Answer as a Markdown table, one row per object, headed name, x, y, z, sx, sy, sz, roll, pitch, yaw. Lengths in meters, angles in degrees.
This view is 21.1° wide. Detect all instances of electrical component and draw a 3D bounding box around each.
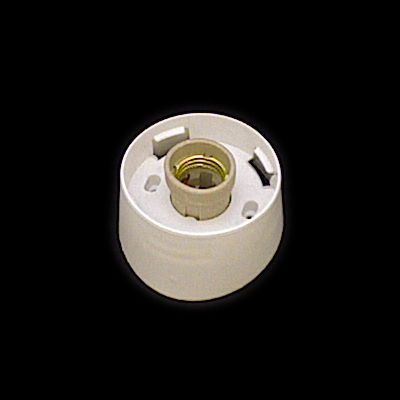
| name | x | y | z | sx | sy | sz | roll | pitch | yaw |
| --- | --- | --- | --- | --- | --- | --- | --- | --- | --- |
| electrical component | 0.000 | 0.000 | 0.627 | 0.099 | 0.098 | 0.064 | 0 | -37 | -1 |
